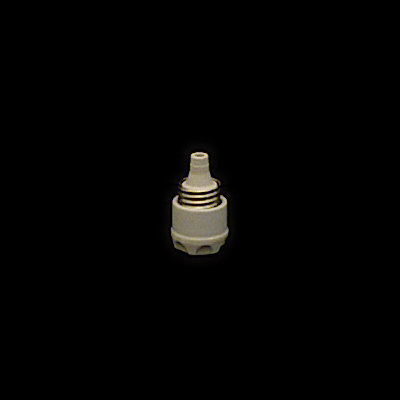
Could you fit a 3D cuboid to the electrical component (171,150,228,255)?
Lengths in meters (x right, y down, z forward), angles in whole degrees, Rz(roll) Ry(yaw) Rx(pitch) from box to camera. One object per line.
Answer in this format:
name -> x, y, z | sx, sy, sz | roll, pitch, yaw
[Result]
electrical component -> 0.000, 0.000, 0.652 | 0.035, 0.062, 0.034 | 0, 23, 0
